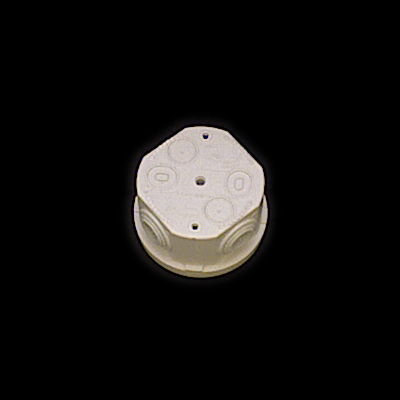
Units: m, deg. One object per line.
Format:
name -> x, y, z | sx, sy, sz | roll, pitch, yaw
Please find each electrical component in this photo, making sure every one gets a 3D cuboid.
electrical component -> 0.000, 0.000, 0.632 | 0.080, 0.080, 0.050 | 0, -28, 0
